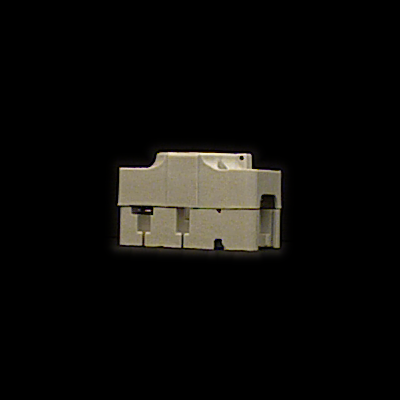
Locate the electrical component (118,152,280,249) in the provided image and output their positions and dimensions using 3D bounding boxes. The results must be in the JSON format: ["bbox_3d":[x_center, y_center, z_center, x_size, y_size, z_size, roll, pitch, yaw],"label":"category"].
[{"bbox_3d":[0.000,0.000,0.656,0.089,0.056,0.050,2,1,24],"label":"electrical component"}]
